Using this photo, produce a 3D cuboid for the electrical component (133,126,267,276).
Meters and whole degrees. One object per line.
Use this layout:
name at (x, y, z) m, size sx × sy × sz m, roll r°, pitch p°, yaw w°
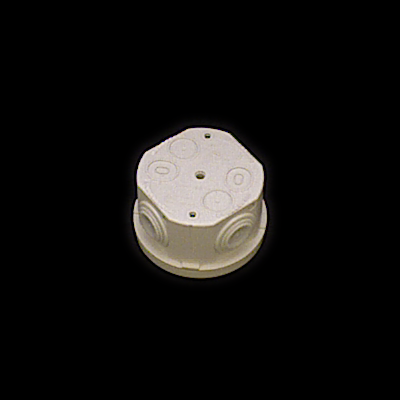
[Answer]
electrical component at (0.000, 0.000, 0.633) m, size 0.080 × 0.080 × 0.051 m, roll 0°, pitch -38°, yaw -1°
